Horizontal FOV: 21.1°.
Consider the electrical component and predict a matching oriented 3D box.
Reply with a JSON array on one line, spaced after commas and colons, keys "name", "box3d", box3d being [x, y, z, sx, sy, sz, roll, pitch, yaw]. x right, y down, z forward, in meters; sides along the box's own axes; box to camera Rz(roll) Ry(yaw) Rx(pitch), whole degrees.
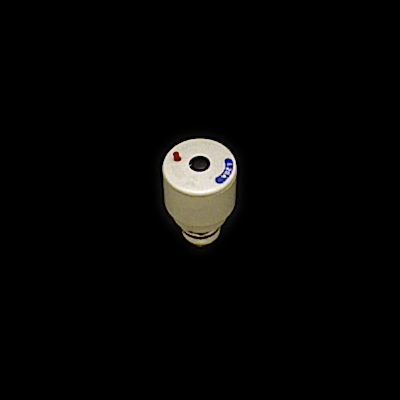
[{"name": "electrical component", "box3d": [0.000, 0.000, 0.621, 0.040, 0.040, 0.079, 0, -38, 0]}]
